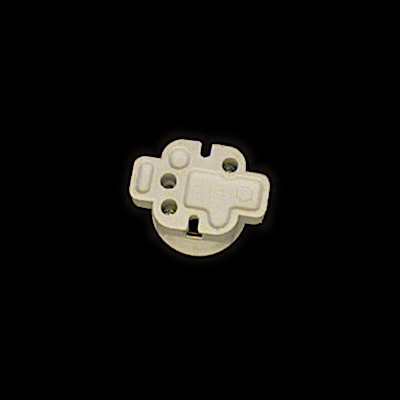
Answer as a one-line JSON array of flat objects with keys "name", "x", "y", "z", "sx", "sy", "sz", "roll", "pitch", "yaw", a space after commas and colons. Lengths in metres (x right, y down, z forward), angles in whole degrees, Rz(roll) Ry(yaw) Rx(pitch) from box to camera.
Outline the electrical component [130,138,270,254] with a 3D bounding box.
[{"name": "electrical component", "x": 0.000, "y": 0.000, "z": 0.636, "sx": 0.078, "sy": 0.058, "sz": 0.056, "roll": 8, "pitch": -17, "yaw": 1}]
